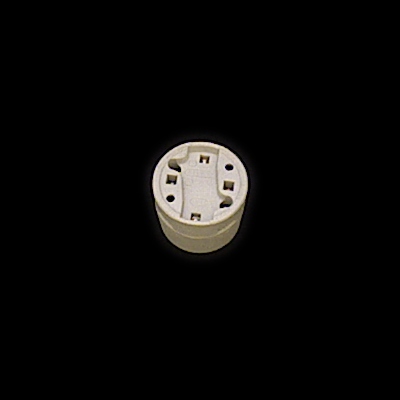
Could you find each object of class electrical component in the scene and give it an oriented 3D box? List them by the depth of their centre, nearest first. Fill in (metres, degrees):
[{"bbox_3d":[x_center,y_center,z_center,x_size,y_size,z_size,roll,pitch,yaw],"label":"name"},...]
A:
[{"bbox_3d":[0.000,0.000,0.634,0.055,0.056,0.047,0,-27,-1],"label":"electrical component"}]
